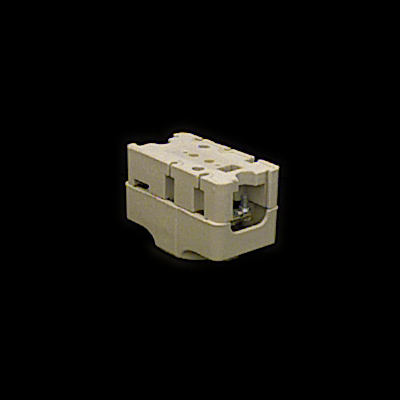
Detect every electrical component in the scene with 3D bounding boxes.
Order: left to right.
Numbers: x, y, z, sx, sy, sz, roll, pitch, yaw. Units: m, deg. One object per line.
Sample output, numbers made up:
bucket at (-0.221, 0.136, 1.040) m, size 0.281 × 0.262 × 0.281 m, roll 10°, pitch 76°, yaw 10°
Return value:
electrical component at (0.000, 0.000, 0.647) m, size 0.050 × 0.056 × 0.088 m, roll -16°, pitch 28°, yaw -38°
